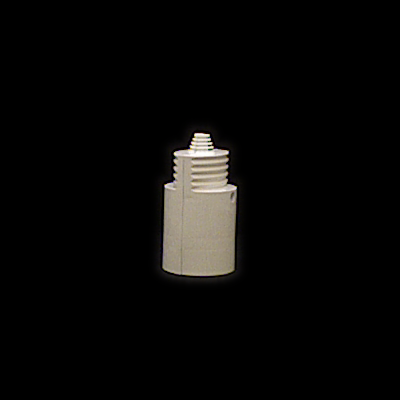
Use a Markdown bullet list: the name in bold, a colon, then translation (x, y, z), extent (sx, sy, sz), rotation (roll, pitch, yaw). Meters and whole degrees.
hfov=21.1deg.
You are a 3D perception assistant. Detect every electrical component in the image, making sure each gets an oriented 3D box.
- **electrical component**: translation (0.000, 0.000, 0.641), extent (0.043, 0.081, 0.043), rotation (1, 11, 0)
